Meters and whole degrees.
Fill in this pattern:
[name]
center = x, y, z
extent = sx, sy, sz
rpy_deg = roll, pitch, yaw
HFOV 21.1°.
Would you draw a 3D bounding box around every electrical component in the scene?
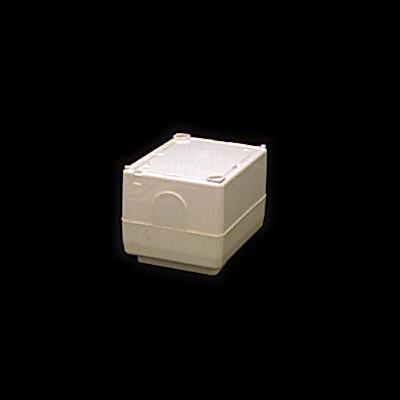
[electrical component]
center = 0.000, 0.000, 0.640
extent = 0.061, 0.061, 0.095
rpy_deg = 9, 21, 20
